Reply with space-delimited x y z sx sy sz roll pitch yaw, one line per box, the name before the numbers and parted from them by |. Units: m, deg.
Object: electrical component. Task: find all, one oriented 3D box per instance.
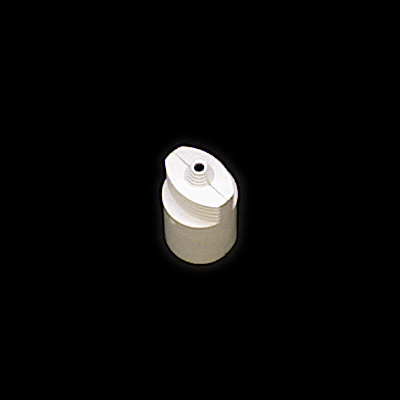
electrical component | 0.000 0.000 0.617 0.043 0.043 0.081 0 -27 0
